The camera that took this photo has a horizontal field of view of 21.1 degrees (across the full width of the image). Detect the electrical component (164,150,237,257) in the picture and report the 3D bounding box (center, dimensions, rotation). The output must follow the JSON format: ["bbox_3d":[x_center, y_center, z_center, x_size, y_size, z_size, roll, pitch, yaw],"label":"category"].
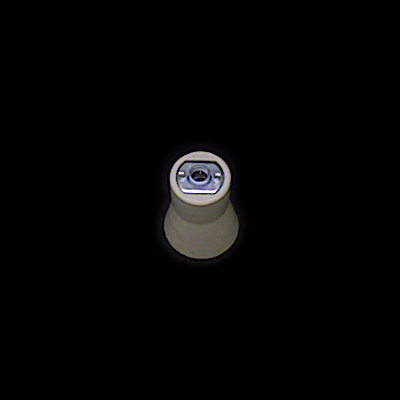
[{"bbox_3d":[0.000,0.000,0.626,0.044,0.044,0.065,0,-28,0],"label":"electrical component"}]
